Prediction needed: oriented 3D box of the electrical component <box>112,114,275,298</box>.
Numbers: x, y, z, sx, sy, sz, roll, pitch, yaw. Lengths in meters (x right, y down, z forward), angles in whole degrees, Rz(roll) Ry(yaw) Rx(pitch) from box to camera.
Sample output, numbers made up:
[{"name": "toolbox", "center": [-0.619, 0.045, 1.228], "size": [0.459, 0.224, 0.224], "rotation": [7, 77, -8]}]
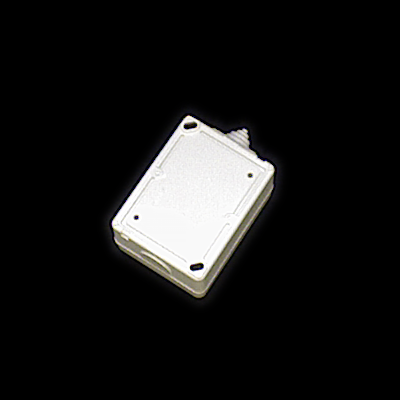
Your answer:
[{"name": "electrical component", "center": [0.001, 0.000, 0.628], "size": [0.062, 0.096, 0.061], "rotation": [31, -14, 10]}]
